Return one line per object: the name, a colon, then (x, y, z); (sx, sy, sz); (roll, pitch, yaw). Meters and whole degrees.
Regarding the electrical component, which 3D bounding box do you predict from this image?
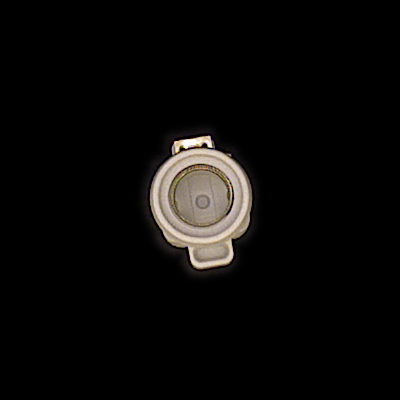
electrical component: (0.000, 0.000, 0.630); (0.058, 0.078, 0.056); (-10, -6, -1)
